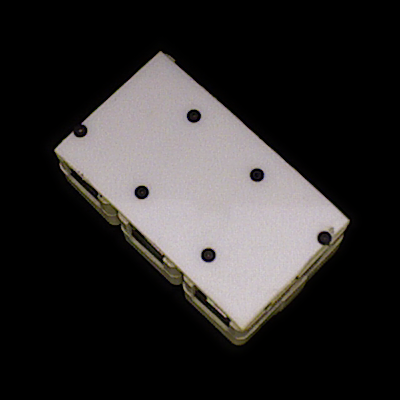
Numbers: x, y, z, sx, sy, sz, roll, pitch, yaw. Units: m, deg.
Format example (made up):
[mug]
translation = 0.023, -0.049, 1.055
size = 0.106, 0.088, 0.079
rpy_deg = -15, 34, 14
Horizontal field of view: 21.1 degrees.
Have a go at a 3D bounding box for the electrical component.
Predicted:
[electrical component]
translation = 0.000, 0.000, 0.630
size = 0.150, 0.090, 0.062
rpy_deg = 44, -12, 12
